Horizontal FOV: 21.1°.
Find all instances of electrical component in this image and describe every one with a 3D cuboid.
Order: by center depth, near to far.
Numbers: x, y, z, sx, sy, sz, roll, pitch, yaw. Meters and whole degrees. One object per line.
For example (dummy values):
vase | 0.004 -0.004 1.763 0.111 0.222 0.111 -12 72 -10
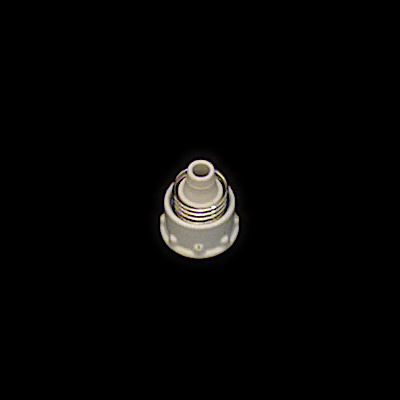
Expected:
electrical component | 0.000 0.000 0.635 0.048 0.048 0.062 0 -36 -1
